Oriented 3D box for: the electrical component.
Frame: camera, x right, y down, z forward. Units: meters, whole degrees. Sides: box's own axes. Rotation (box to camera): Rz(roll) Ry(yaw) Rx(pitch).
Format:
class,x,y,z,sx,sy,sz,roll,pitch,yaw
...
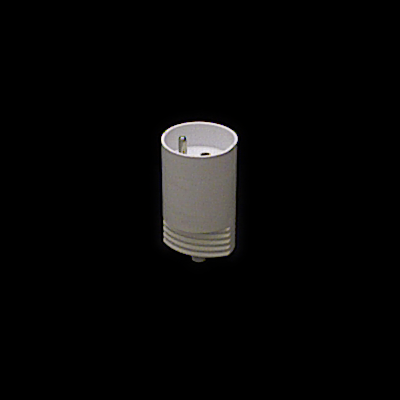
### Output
class,x,y,z,sx,sy,sz,roll,pitch,yaw
electrical component,0.000,0.000,0.627,0.043,0.082,0.042,0,31,0
